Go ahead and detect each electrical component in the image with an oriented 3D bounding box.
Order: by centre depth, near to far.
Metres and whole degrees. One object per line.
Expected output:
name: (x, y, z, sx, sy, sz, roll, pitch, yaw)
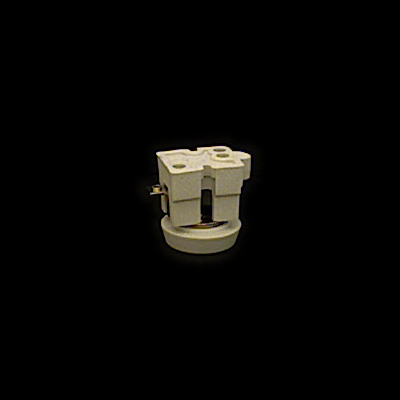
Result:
electrical component: (0.000, 0.000, 0.648, 0.067, 0.056, 0.047, -6, 24, -15)
